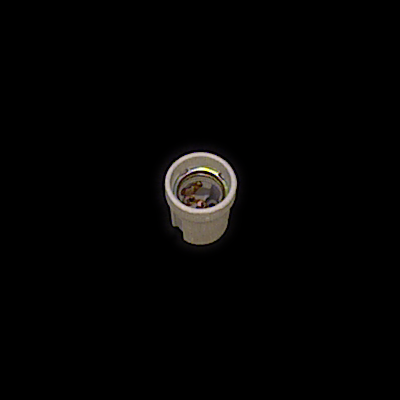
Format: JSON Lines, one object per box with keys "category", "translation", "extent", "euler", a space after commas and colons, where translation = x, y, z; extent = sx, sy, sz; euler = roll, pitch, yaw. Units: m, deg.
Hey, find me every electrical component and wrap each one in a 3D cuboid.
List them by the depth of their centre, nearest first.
{"category": "electrical component", "translation": [0.000, 0.000, 0.628], "extent": [0.040, 0.040, 0.046], "euler": [0, -28, -1]}
